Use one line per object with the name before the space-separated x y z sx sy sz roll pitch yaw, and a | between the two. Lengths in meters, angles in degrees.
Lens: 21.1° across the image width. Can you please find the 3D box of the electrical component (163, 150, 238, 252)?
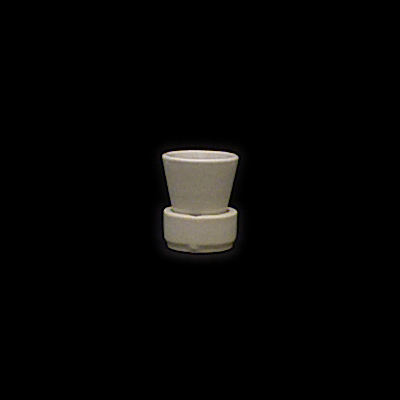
electrical component | 0.000 0.000 0.643 0.045 0.055 0.044 1 11 0
